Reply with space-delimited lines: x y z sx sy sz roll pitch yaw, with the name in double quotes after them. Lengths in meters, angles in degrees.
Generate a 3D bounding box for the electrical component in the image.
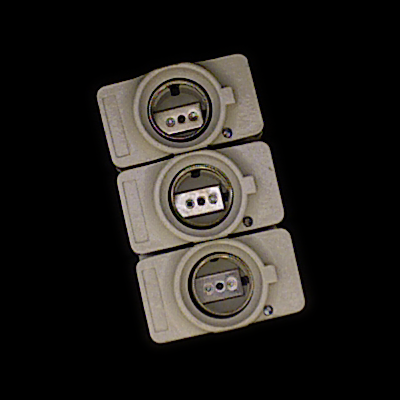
0.000 0.000 0.632 0.089 0.150 0.061 -13 -5 -2 "electrical component"
